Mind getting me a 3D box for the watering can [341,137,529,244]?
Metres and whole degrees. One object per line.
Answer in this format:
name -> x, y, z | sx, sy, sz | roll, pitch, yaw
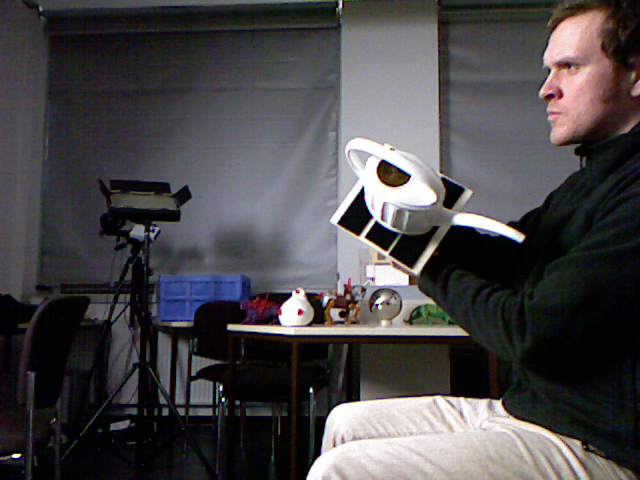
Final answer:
watering can -> 0.183, -0.066, 0.926 | 0.351, 0.105, 0.222 | 34, -13, 12
